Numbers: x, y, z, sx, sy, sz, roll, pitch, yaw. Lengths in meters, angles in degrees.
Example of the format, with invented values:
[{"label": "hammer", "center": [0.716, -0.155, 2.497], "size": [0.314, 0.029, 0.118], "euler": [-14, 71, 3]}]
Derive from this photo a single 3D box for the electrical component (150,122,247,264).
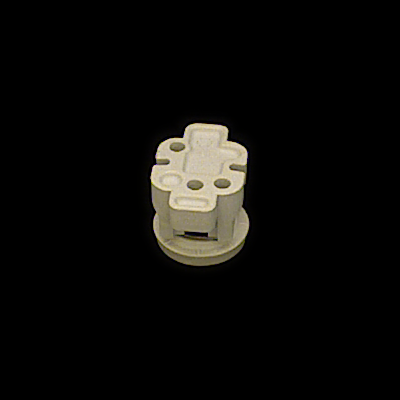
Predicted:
[{"label": "electrical component", "center": [0.000, 0.000, 0.640], "size": [0.058, 0.057, 0.078], "euler": [4, 41, 5]}]
